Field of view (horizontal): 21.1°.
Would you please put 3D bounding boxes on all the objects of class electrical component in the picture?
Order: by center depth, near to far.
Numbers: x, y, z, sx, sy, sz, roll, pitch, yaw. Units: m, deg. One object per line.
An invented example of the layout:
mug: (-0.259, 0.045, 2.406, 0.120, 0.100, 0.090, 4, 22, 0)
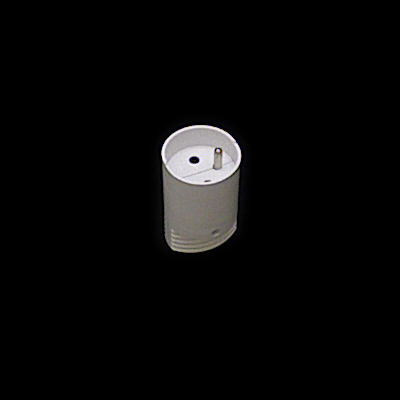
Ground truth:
electrical component: (0.000, 0.000, 0.621, 0.043, 0.043, 0.081, 0, -38, -1)
